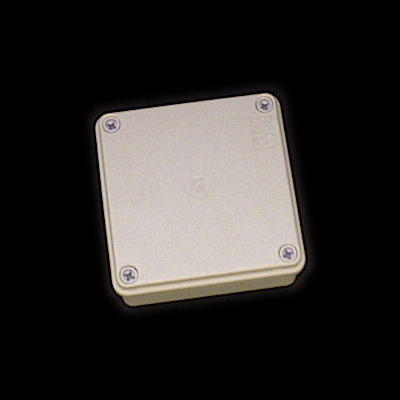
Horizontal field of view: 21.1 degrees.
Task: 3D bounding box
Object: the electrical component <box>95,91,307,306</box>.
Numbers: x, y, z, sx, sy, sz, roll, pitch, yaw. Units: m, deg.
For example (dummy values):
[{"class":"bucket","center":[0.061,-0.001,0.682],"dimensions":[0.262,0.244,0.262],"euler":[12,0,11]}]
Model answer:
[{"class":"electrical component","center":[0.000,0.000,0.629],"dimensions":[0.109,0.109,0.056],"euler":[-8,-17,-2]}]
